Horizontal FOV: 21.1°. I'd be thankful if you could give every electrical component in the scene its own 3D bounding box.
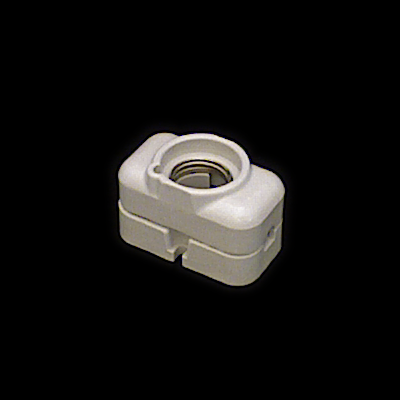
[{"bbox_3d":[0.000,0.000,0.637,0.094,0.060,0.053,21,46,21],"label":"electrical component"}]
